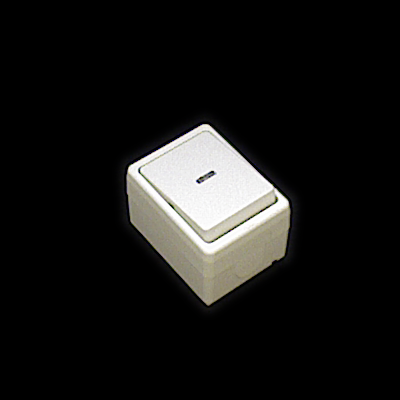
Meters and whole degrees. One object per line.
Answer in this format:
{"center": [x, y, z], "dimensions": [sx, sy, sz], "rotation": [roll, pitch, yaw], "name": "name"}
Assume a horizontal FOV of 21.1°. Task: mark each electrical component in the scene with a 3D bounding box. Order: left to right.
{"center": [0.000, 0.000, 0.629], "dimensions": [0.062, 0.096, 0.061], "rotation": [-31, -31, -22], "name": "electrical component"}
